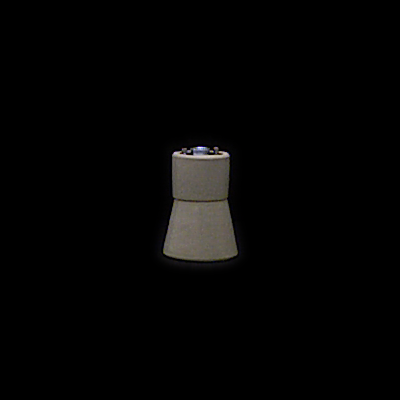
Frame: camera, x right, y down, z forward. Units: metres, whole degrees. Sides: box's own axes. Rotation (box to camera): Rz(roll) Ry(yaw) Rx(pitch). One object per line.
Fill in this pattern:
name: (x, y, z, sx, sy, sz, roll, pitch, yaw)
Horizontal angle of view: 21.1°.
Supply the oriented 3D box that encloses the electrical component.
electrical component: (0.000, 0.000, 0.646, 0.044, 0.066, 0.044, 1, 10, 0)
